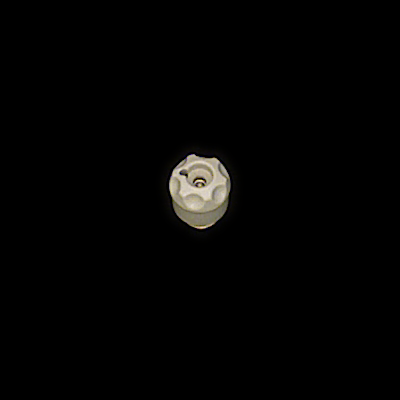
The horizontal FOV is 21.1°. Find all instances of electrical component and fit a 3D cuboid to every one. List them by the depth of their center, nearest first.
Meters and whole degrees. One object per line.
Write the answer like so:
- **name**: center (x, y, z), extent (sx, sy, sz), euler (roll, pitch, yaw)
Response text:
- **electrical component**: center (0.000, 0.000, 0.634), extent (0.035, 0.035, 0.061), euler (0, -27, 0)
